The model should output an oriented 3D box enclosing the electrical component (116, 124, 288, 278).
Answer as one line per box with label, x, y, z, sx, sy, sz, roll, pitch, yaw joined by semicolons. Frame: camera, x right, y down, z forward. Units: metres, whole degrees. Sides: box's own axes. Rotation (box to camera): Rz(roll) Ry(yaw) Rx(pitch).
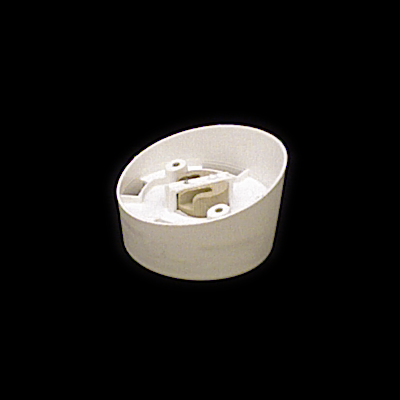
electrical component;0.000;0.000;0.634;0.099;0.065;0.097;1;30;-1
